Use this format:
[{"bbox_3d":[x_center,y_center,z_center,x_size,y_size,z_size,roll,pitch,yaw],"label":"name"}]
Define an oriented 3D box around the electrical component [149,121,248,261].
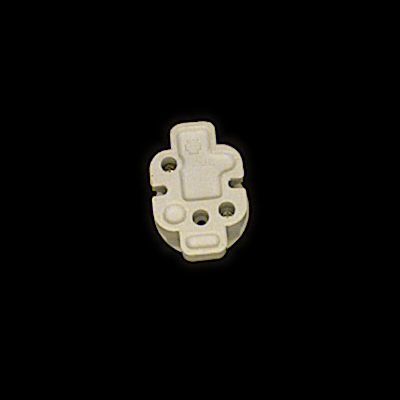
[{"bbox_3d":[0.000,0.000,0.636,0.058,0.078,0.056,-7,-18,-1],"label":"electrical component"}]
